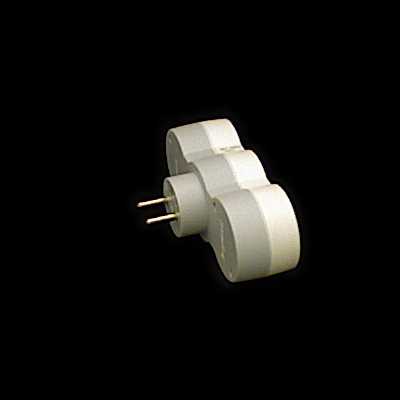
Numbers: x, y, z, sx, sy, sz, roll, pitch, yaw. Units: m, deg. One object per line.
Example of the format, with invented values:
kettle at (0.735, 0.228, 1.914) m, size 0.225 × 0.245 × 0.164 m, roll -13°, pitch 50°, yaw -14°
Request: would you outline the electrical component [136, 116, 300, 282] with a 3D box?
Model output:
electrical component at (0.000, 0.000, 0.644) m, size 0.074 × 0.053 × 0.135 m, roll -11°, pitch 34°, yaw -15°
